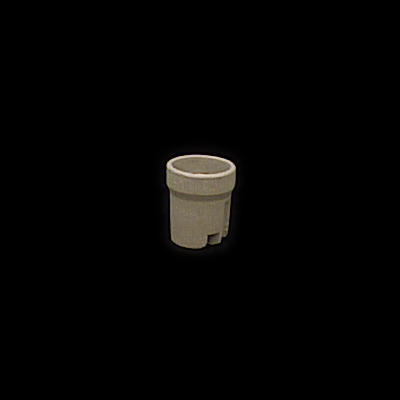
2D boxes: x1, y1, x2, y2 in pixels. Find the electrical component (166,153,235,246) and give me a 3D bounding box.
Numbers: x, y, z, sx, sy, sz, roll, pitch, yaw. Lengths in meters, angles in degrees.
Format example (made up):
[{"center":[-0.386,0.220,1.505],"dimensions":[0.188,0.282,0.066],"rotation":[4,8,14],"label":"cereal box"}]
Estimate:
[{"center":[0.000,0.000,0.639],"dimensions":[0.040,0.047,0.039],"rotation":[1,21,0],"label":"electrical component"}]
